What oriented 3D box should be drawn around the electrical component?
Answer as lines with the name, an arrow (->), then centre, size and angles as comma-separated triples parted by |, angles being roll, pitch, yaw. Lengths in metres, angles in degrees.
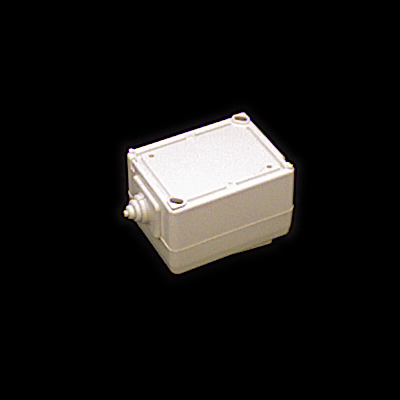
electrical component -> 0.000, 0.000, 0.632 | 0.096, 0.061, 0.061 | -20, 46, -20
